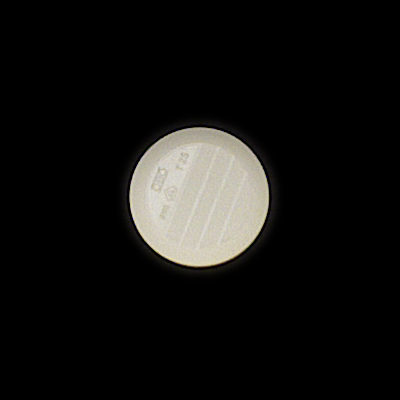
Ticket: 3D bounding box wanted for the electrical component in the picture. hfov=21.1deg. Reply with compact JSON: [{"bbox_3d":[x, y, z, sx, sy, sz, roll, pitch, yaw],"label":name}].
[{"bbox_3d":[0.000,0.000,0.631,0.080,0.080,0.050,0,-7,0],"label":"electrical component"}]
